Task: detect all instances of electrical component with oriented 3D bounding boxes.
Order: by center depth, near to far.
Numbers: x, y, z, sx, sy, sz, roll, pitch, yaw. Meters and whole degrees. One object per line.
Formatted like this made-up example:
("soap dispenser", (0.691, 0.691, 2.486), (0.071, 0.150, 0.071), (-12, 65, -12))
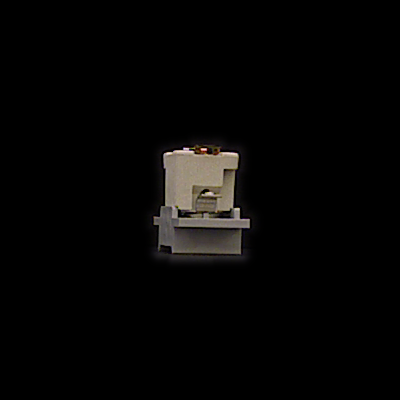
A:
("electrical component", (0.000, 0.000, 0.649), (0.042, 0.064, 0.081), (1, 0, -13))
